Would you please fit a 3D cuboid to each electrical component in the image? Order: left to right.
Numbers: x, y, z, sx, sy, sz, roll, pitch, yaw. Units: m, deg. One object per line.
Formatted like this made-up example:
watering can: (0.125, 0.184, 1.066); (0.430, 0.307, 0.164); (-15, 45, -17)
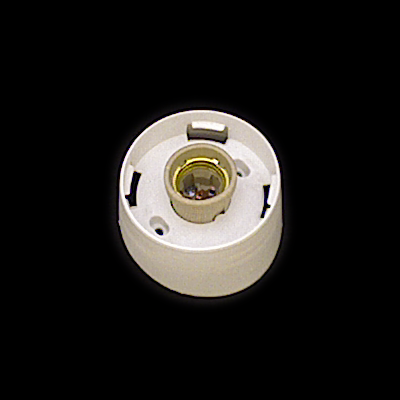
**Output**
electrical component: (0.000, 0.000, 0.625); (0.099, 0.099, 0.064); (0, -27, 0)
